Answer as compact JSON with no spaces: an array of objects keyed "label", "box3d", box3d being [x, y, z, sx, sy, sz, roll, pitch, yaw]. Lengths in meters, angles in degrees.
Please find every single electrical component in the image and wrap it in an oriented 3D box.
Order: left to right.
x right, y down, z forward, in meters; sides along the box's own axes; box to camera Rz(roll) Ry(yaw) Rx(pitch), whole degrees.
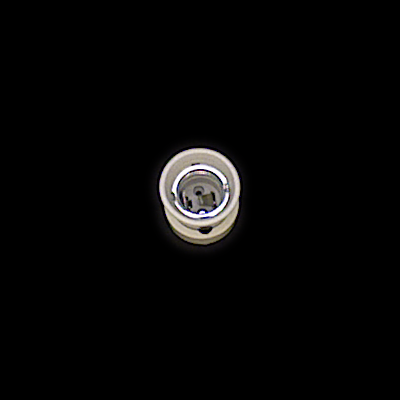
[{"label":"electrical component","box3d":[0.000,0.000,0.627,0.045,0.045,0.055,0,-17,1]}]
